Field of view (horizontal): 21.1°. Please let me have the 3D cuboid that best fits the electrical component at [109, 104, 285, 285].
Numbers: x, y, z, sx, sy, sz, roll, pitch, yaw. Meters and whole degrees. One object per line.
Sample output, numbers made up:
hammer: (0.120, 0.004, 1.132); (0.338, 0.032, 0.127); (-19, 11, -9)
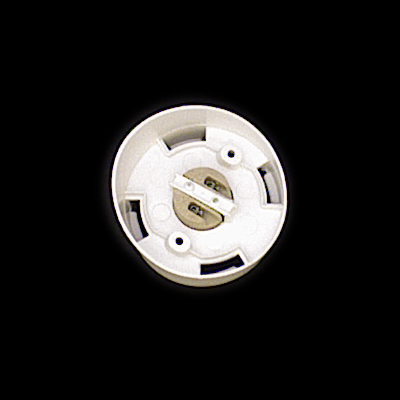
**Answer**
electrical component: (0.000, 0.000, 0.623); (0.099, 0.099, 0.064); (0, -17, 1)
